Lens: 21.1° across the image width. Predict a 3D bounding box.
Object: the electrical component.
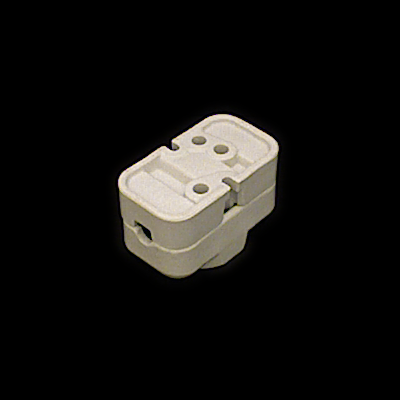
[{"bbox_3d":[0.000,0.000,0.638,0.053,0.060,0.095,32,52,30],"label":"electrical component"}]
